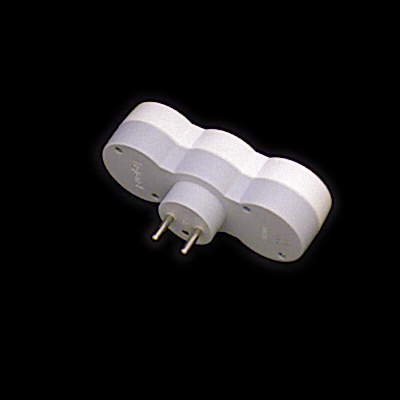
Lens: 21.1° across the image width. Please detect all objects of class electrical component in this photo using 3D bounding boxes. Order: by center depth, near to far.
[{"bbox_3d":[0.000,0.000,0.631,0.138,0.073,0.052,25,-32,17],"label":"electrical component"}]
